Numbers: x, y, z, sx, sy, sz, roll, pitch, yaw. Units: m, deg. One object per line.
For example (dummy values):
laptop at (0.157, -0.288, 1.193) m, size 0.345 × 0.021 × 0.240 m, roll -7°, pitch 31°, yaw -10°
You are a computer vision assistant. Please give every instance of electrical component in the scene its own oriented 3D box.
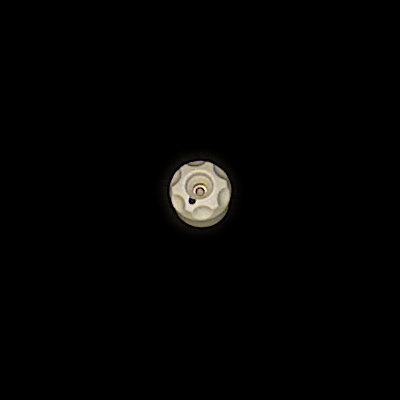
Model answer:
electrical component at (0.000, 0.000, 0.633) m, size 0.035 × 0.035 × 0.061 m, roll 0°, pitch -16°, yaw 1°
